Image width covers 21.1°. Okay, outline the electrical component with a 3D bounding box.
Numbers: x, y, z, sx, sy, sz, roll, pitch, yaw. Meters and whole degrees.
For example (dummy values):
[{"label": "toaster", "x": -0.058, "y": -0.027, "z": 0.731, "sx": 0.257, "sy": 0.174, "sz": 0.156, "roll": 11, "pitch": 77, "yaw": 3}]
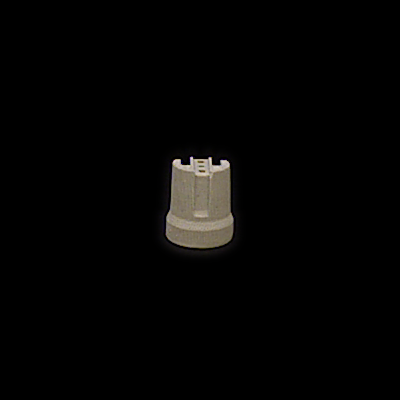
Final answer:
[{"label": "electrical component", "x": 0.000, "y": 0.000, "z": 0.643, "sx": 0.040, "sy": 0.046, "sz": 0.040, "roll": 1, "pitch": 22, "yaw": 0}]
